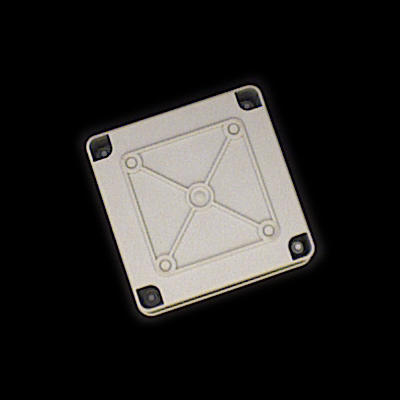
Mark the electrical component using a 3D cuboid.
[{"bbox_3d":[0.000,0.000,0.629,0.109,0.109,0.056,-18,-6,-3],"label":"electrical component"}]
